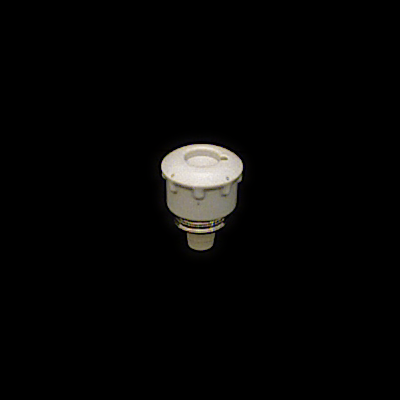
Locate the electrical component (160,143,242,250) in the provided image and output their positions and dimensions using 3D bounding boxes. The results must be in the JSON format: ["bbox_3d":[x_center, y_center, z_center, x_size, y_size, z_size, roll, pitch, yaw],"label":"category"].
[{"bbox_3d":[0.000,0.000,0.643,0.048,0.063,0.047,1,32,0],"label":"electrical component"}]
